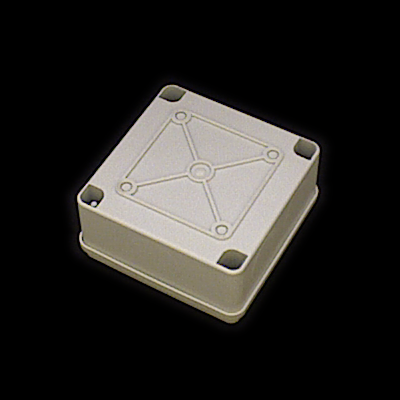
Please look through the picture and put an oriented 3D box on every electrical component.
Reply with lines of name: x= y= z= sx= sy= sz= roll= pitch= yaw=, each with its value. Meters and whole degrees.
electrical component: x=0.000 y=0.000 z=0.628 sx=0.108 sy=0.109 sz=0.056 roll=24 pitch=-33 yaw=17
